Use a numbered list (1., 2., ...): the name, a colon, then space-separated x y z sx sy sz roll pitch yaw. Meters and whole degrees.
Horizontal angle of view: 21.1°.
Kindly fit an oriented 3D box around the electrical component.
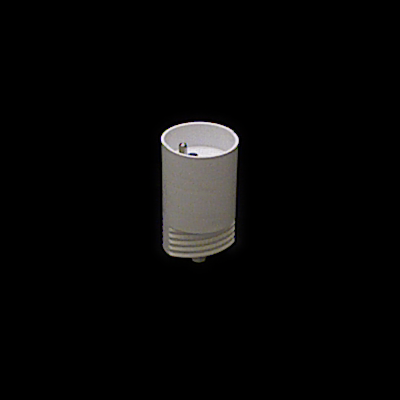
1. electrical component: 0.000 0.000 0.625 0.043 0.082 0.042 0 31 0
